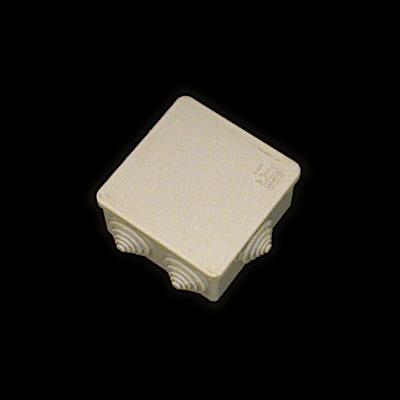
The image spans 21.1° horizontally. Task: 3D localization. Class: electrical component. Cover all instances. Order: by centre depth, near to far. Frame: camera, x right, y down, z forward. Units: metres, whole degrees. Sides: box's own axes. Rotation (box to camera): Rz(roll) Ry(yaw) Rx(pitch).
[{"bbox_3d":[0.000,0.000,0.640,0.099,0.100,0.048,33,-22,15],"label":"electrical component"}]
